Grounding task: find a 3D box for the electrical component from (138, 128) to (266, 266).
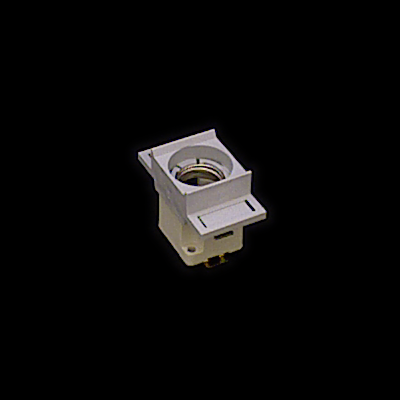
[{"bbox_3d":[0.000,0.000,0.630,0.042,0.064,0.080,-20,46,-20],"label":"electrical component"}]
